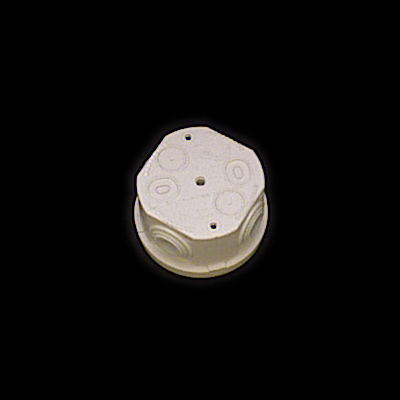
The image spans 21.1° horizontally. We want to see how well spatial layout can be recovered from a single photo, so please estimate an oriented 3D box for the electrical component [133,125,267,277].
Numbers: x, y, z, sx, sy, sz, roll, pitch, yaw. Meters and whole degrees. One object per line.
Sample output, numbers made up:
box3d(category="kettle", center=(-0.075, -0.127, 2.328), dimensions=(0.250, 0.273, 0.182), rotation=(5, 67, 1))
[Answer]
box3d(category="electrical component", center=(0.000, 0.000, 0.632), dimensions=(0.080, 0.080, 0.050), rotation=(0, -28, 0))
